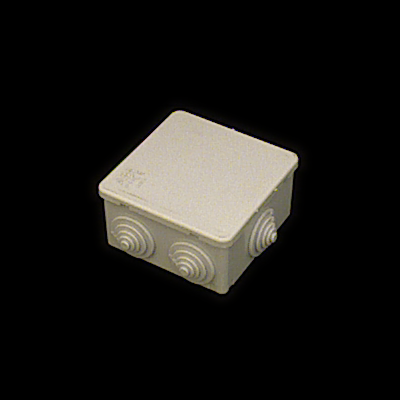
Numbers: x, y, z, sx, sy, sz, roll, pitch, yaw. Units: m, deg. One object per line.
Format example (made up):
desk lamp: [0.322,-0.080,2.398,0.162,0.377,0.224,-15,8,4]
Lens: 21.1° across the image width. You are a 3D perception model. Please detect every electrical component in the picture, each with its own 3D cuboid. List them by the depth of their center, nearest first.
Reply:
electrical component: [0.000,0.000,0.641,0.099,0.049,0.100,23,47,22]
